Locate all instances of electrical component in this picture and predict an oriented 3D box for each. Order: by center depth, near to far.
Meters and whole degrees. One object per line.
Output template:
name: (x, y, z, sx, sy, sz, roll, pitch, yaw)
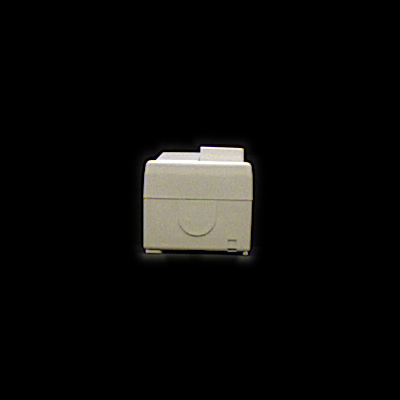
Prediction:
electrical component: (0.000, 0.000, 0.653, 0.062, 0.061, 0.096, 1, 0, 2)
